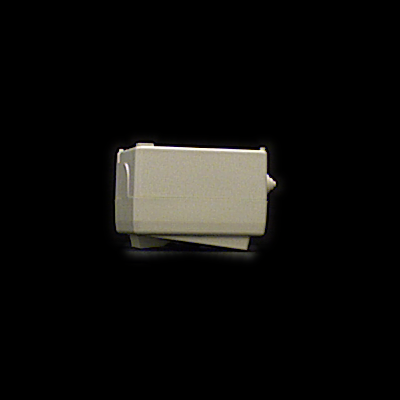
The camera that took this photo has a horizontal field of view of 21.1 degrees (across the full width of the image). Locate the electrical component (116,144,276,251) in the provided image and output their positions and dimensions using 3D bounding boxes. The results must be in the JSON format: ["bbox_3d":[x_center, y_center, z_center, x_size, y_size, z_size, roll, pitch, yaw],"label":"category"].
[{"bbox_3d":[0.000,0.000,0.654,0.096,0.061,0.062,1,0,-16],"label":"electrical component"}]
